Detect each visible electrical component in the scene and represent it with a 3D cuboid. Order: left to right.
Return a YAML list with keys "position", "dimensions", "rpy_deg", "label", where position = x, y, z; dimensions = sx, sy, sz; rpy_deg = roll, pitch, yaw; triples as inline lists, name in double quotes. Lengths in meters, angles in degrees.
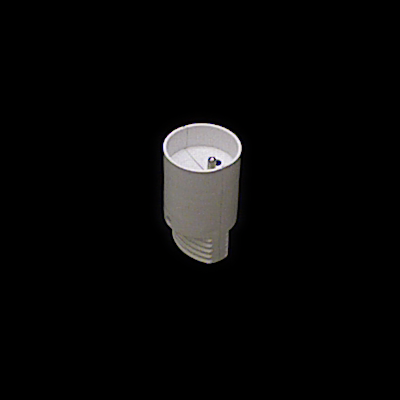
- position: [0.000, 0.000, 0.623]
  dimensions: [0.043, 0.082, 0.042]
  rpy_deg: [0, 43, 0]
  label: "electrical component"
